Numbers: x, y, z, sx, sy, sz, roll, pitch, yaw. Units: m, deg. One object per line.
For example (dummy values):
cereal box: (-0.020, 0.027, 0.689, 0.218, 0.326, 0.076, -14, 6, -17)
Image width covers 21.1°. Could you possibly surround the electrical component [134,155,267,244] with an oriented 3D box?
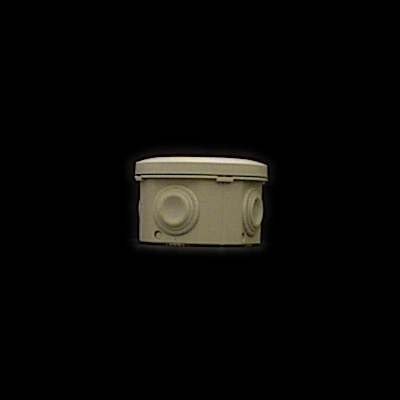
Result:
electrical component: (0.000, 0.000, 0.650, 0.080, 0.051, 0.080, 1, 0, 0)
